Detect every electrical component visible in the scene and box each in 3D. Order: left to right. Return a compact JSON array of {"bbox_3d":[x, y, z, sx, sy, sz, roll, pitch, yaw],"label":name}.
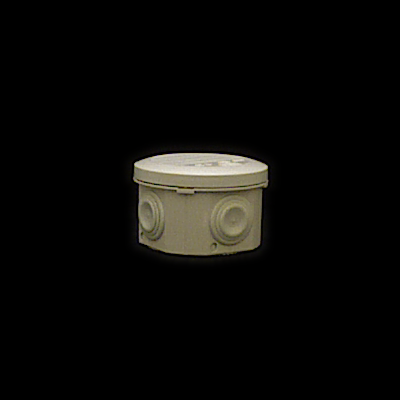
[{"bbox_3d":[0.000,0.000,0.643,0.080,0.051,0.079,1,10,0],"label":"electrical component"}]
